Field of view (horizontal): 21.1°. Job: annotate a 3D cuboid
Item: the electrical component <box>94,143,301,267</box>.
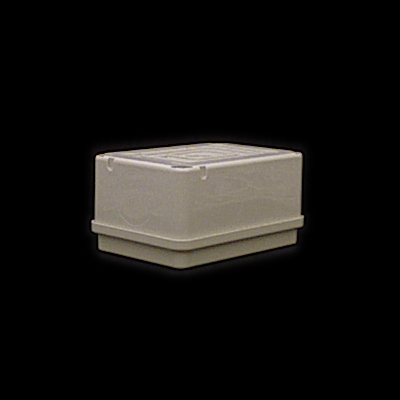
[{"bbox_3d":[0.000,0.000,0.645,0.077,0.057,0.113,11,13,42],"label":"electrical component"}]
